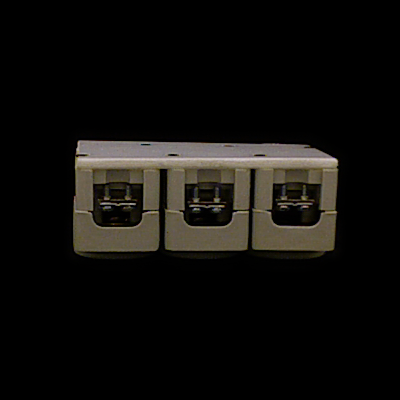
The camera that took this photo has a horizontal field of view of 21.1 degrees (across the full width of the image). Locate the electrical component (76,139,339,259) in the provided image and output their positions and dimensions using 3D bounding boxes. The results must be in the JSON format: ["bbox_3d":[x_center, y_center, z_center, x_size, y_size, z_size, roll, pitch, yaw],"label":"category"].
[{"bbox_3d":[0.000,0.000,0.653,0.150,0.062,0.088,1,10,-6],"label":"electrical component"}]
